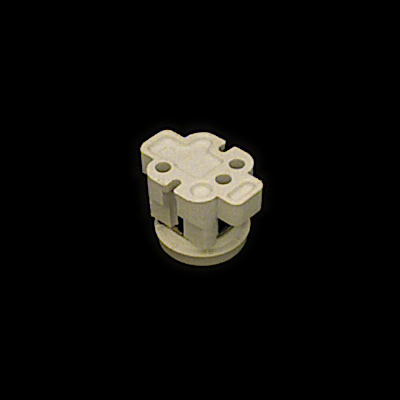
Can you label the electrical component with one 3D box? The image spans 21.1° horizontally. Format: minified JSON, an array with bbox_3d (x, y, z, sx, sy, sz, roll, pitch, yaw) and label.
[{"bbox_3d":[0.000,0.000,0.639,0.077,0.057,0.058,29,51,29],"label":"electrical component"}]
